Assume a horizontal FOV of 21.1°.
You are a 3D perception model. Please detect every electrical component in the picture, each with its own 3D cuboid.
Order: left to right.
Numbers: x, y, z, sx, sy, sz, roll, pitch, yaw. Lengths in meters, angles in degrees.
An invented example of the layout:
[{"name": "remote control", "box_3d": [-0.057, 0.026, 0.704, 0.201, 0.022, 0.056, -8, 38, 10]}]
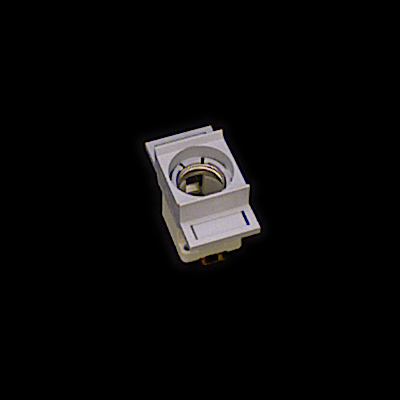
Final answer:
[{"name": "electrical component", "box_3d": [0.000, 0.000, 0.627, 0.042, 0.080, 0.064, -16, -36, -11]}]
